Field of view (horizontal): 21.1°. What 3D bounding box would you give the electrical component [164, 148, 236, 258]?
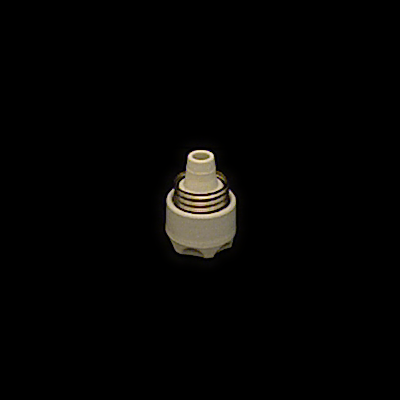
[{"bbox_3d":[0.000,0.000,0.642,0.043,0.063,0.043,1,31,0],"label":"electrical component"}]
